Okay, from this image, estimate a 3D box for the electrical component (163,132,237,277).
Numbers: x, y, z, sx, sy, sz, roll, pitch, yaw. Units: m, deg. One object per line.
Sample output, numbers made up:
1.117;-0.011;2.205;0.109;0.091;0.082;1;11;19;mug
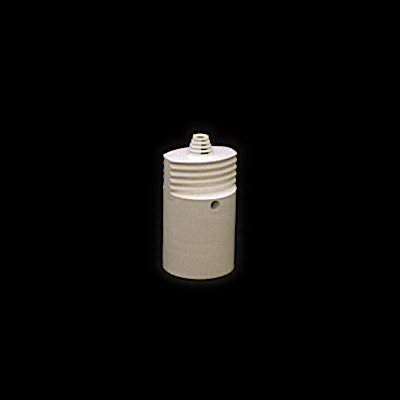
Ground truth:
0.000;0.000;0.634;0.043;0.082;0.042;1;21;0;electrical component
